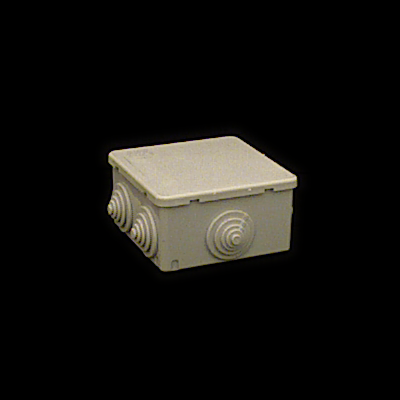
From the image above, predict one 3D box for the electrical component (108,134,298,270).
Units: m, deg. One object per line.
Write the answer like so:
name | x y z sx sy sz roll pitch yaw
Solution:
electrical component | 0.000 0.000 0.647 0.100 0.049 0.098 -9 24 -23
